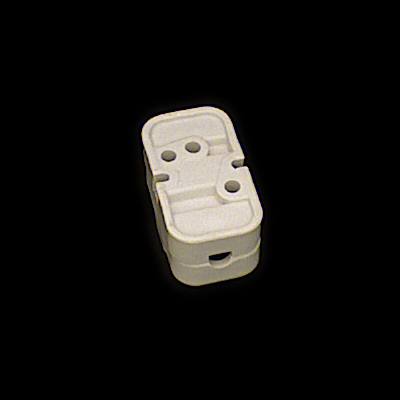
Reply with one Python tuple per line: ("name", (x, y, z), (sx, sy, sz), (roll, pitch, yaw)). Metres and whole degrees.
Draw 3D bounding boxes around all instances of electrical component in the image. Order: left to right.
("electrical component", (0.000, 0.000, 0.634), (0.054, 0.094, 0.059), (-11, -35, -8))
